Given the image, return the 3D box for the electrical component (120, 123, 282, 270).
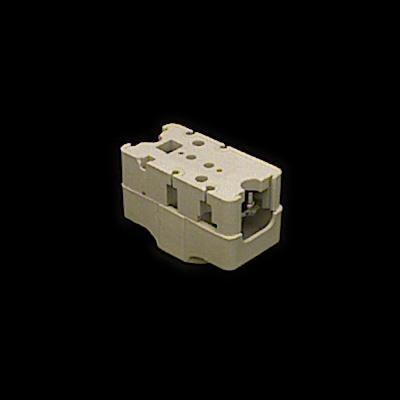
[{"bbox_3d":[0.000,0.000,0.642,0.088,0.056,0.050,26,41,34],"label":"electrical component"}]
